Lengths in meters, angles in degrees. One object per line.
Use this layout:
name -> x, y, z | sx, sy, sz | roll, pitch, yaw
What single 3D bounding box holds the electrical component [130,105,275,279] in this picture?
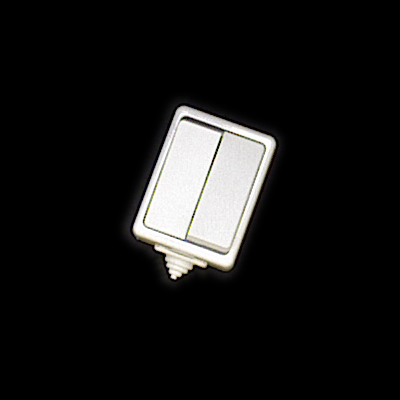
electrical component -> 0.000, 0.000, 0.626 | 0.062, 0.096, 0.061 | 20, -7, 3
